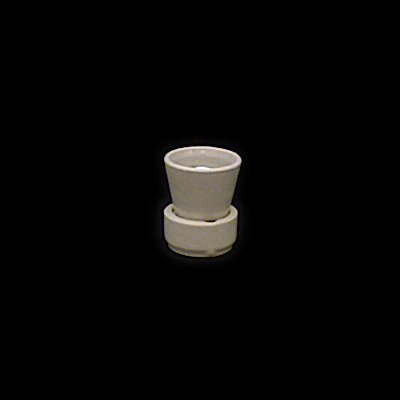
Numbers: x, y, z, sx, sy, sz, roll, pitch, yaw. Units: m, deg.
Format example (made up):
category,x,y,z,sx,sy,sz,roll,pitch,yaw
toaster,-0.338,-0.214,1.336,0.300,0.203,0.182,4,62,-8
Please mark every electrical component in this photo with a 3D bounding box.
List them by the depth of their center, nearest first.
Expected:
category,x,y,z,sx,sy,sz,roll,pitch,yaw
electrical component,0.000,0.000,0.641,0.045,0.056,0.044,2,21,0
